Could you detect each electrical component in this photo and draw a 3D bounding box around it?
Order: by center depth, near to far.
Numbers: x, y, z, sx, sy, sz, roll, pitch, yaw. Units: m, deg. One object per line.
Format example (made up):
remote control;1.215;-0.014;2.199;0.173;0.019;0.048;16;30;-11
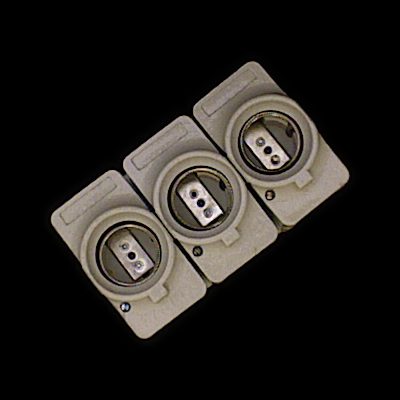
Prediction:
electrical component;0.000;0.000;0.632;0.150;0.089;0.061;-38;-4;-3
